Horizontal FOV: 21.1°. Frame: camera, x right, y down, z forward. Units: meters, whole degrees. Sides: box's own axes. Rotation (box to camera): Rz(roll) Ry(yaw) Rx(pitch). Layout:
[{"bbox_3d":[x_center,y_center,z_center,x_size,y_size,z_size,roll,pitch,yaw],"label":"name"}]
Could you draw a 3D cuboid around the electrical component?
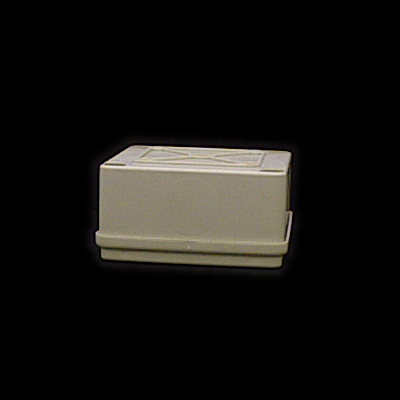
[{"bbox_3d":[0.000,0.000,0.647,0.109,0.056,0.108,3,10,6],"label":"electrical component"}]
